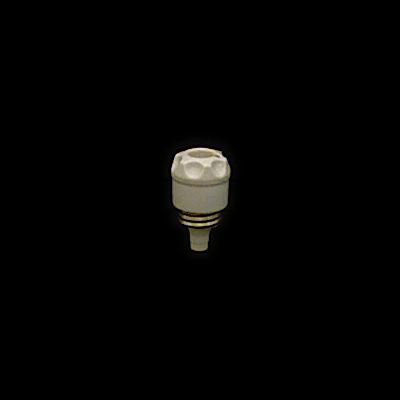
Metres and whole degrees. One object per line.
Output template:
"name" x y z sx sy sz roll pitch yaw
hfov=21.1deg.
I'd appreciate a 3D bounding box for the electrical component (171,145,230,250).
"electrical component" 0.000 0.000 0.644 0.035 0.062 0.034 1 23 0
